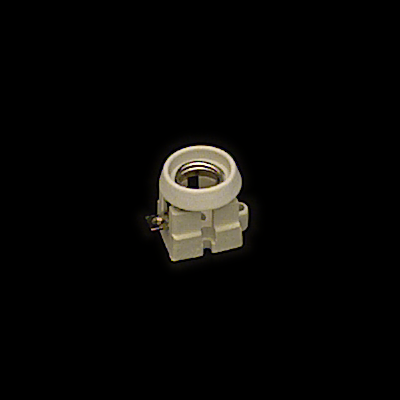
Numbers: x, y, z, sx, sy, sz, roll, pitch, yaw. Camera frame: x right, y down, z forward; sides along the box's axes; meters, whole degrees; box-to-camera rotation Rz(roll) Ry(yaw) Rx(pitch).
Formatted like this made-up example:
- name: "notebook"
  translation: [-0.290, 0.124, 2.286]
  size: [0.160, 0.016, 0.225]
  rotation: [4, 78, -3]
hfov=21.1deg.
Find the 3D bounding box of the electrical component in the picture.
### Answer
- name: "electrical component"
  translation: [0.000, 0.000, 0.639]
  size: [0.067, 0.056, 0.048]
  rotation: [-13, 42, -15]
